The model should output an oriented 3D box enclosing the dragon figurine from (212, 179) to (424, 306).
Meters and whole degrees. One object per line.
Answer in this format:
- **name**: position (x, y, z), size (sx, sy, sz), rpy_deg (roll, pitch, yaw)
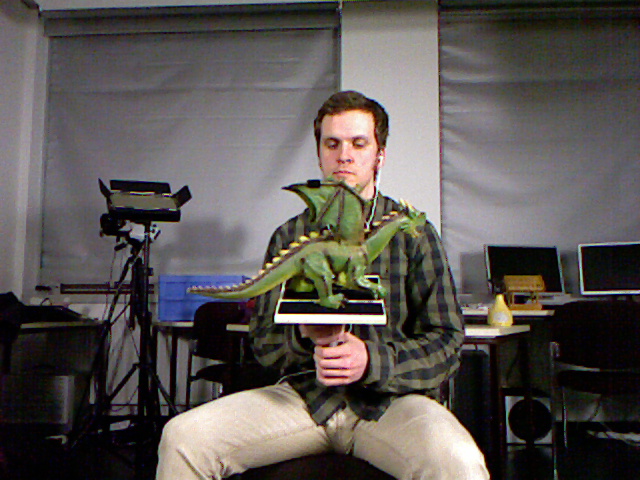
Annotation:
- **dragon figurine**: position (0.003, 0.000, 0.959), size (0.412, 0.239, 0.124), rpy_deg (-4, 23, -12)
